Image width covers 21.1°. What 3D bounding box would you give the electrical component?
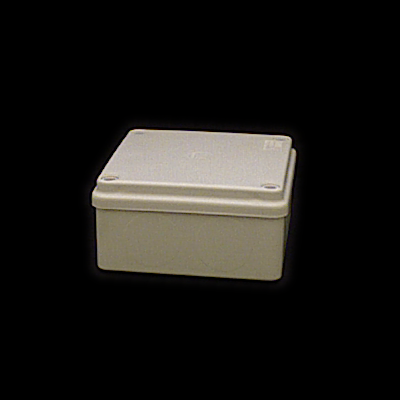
[{"bbox_3d":[0.000,0.000,0.639,0.108,0.057,0.107,3,21,6],"label":"electrical component"}]
